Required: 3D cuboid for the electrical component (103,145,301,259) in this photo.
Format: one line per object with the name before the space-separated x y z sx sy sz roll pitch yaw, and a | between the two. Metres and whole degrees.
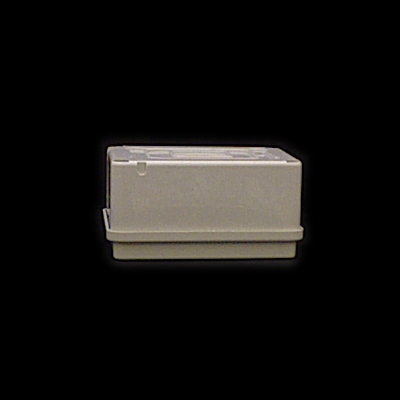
electrical component | 0.000 0.000 0.644 0.113 0.057 0.077 0 10 -7
